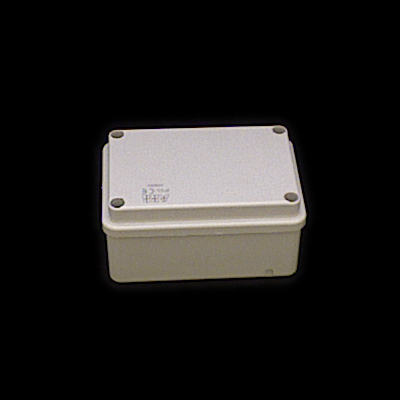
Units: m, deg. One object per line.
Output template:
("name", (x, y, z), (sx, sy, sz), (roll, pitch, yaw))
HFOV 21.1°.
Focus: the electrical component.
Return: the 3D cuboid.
("electrical component", (0.000, 0.000, 0.629), (0.113, 0.057, 0.077), (-2, 42, -3))
